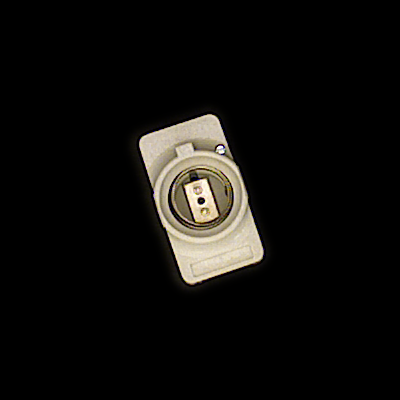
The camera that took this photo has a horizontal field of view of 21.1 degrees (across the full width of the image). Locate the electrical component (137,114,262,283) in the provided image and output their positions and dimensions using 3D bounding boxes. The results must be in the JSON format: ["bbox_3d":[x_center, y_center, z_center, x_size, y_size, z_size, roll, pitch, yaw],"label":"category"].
[{"bbox_3d":[0.000,0.000,0.637,0.050,0.089,0.055,-19,-5,-1],"label":"electrical component"}]
